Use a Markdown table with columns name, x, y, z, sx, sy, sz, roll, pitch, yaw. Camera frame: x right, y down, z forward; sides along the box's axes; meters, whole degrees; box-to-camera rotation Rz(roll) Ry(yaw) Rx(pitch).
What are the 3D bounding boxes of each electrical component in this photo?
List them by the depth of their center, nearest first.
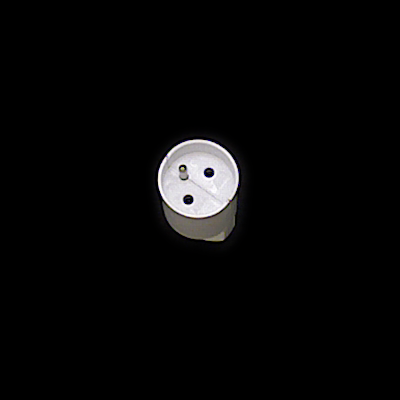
| name | x | y | z | sx | sy | sz | roll | pitch | yaw |
| --- | --- | --- | --- | --- | --- | --- | --- | --- | --- |
| electrical component | 0.000 | 0.000 | 0.615 | 0.043 | 0.043 | 0.080 | 0 | -17 | 0 |
